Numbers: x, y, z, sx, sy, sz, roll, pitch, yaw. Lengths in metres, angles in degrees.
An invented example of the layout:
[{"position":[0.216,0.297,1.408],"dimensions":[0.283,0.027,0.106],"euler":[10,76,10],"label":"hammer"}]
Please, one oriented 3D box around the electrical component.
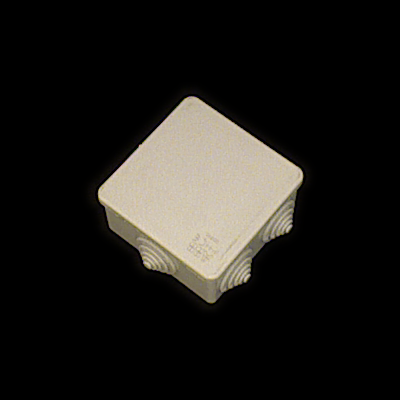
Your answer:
[{"position":[0.000,0.000,0.639],"dimensions":[0.099,0.100,0.048],"euler":[36,-21,16],"label":"electrical component"}]
